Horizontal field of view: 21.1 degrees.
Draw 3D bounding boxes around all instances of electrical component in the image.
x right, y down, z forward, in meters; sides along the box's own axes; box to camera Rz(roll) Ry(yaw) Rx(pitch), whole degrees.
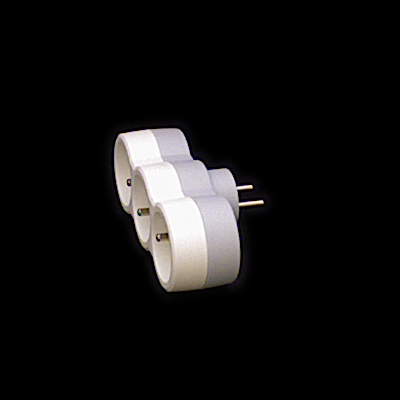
[{"bbox_3d":[0.000,0.000,0.639,0.074,0.053,0.136,-7,32,-17],"label":"electrical component"}]
